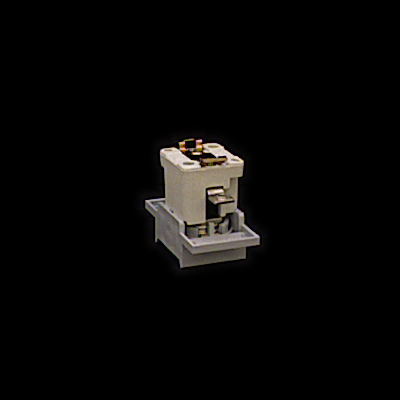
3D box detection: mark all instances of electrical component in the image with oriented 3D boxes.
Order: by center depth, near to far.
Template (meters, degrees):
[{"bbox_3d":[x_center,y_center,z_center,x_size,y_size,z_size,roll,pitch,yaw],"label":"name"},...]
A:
[{"bbox_3d":[0.000,0.000,0.638,0.042,0.064,0.079,-8,23,-22],"label":"electrical component"}]
